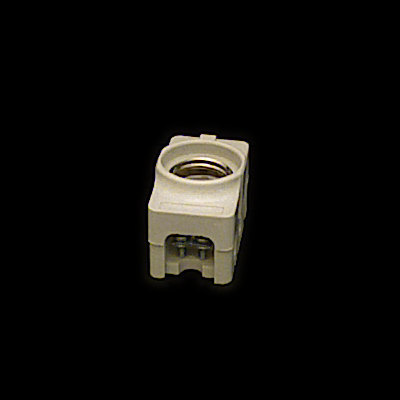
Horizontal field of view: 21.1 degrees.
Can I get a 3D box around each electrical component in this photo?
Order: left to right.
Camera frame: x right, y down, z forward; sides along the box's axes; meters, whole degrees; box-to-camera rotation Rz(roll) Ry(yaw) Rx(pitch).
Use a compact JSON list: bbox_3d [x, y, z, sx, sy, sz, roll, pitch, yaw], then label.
[{"bbox_3d":[0.000,0.000,0.643,0.050,0.056,0.088,5,32,6],"label":"electrical component"}]
